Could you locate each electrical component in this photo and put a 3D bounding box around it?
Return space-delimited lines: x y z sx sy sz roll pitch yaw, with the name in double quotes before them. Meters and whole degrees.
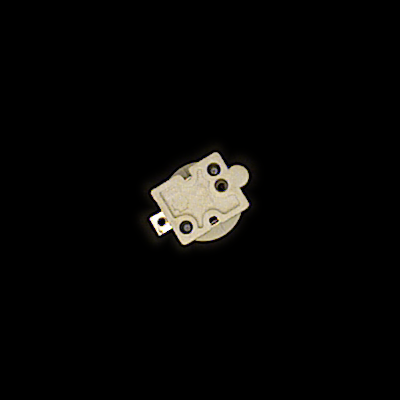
"electrical component" 0.000 0.000 0.639 0.066 0.048 0.055 -31 -4 -1
